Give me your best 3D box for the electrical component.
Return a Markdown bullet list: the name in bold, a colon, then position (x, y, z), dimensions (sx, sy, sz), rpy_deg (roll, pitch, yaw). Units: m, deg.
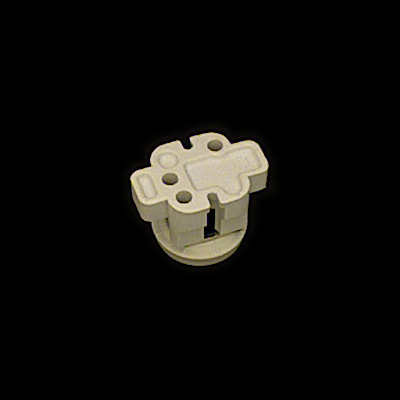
- **electrical component**: position (0.000, 0.000, 0.638), dimensions (0.079, 0.057, 0.057), rpy_deg (-17, -36, -15)
